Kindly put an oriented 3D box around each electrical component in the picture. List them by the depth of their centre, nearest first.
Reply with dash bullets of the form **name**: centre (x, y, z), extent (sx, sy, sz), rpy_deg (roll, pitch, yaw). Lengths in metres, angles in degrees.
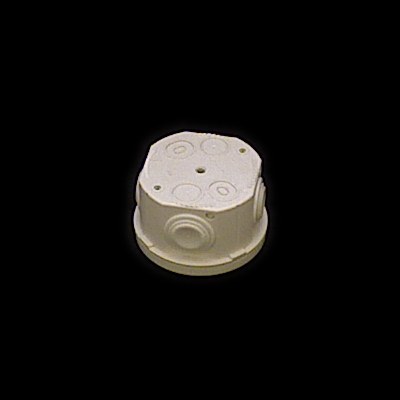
- **electrical component**: centre (0.000, 0.000, 0.633), extent (0.080, 0.051, 0.080), rpy_deg (0, 43, 0)
